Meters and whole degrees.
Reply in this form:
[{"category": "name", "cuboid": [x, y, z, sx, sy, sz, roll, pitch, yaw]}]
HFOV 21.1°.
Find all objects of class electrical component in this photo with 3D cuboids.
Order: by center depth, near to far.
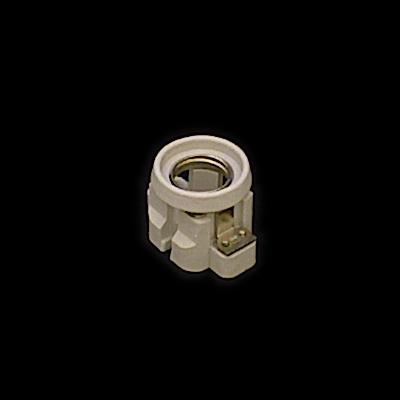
[{"category": "electrical component", "cuboid": [0.000, 0.000, 0.631, 0.058, 0.057, 0.078, -29, 50, -29]}]
